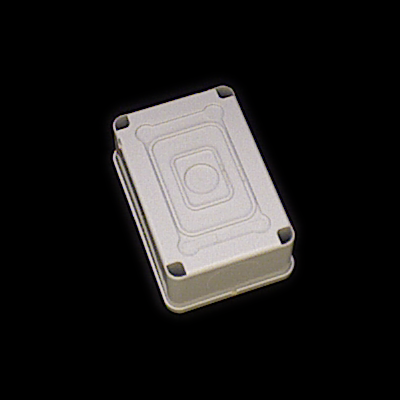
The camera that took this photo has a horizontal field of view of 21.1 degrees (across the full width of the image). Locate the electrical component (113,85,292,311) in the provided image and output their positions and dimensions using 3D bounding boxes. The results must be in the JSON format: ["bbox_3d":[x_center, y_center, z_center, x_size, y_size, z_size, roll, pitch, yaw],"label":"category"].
[{"bbox_3d":[0.000,0.000,0.628,0.078,0.113,0.057,-17,-25,-9],"label":"electrical component"}]
